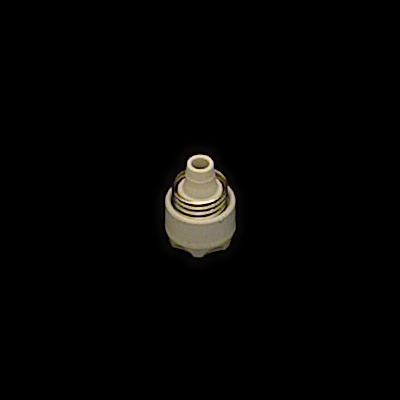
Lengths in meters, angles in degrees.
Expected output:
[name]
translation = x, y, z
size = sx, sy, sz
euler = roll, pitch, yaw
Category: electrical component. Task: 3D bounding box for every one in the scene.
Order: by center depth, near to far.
[electrical component]
translation = 0.000, 0.000, 0.637
size = 0.043, 0.062, 0.043
euler = 0, 44, 0
